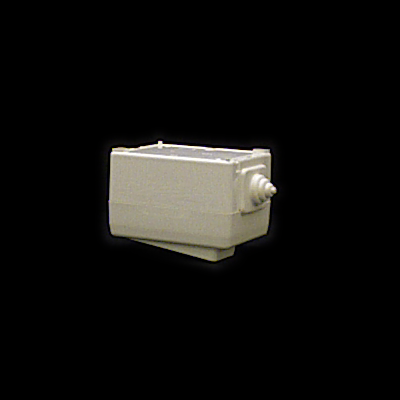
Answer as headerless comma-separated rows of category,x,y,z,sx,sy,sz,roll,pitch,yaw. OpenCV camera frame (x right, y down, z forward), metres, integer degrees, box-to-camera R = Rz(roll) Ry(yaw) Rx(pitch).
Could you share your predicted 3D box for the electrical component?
electrical component,0.000,0.000,0.643,0.096,0.061,0.061,6,11,26
